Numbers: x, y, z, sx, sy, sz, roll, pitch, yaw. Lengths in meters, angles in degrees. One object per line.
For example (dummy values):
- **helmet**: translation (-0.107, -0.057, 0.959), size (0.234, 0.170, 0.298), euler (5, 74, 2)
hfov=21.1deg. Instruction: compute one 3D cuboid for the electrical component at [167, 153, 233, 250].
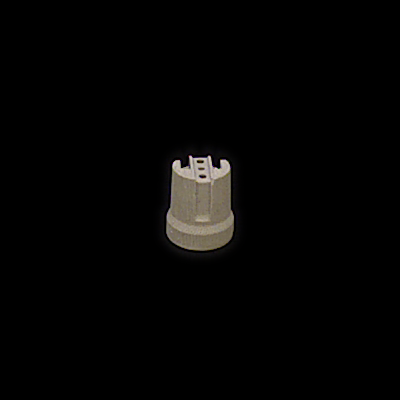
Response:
- **electrical component**: translation (0.000, 0.000, 0.639), size (0.040, 0.046, 0.040), euler (1, 32, -1)
